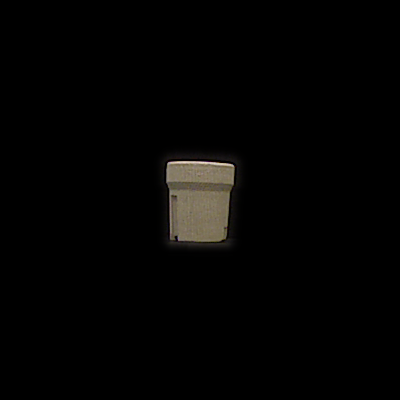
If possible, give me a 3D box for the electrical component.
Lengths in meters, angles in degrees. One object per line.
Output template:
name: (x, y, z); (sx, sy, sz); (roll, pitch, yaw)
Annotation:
electrical component: (0.000, 0.000, 0.650); (0.040, 0.046, 0.040); (1, 1, 0)
